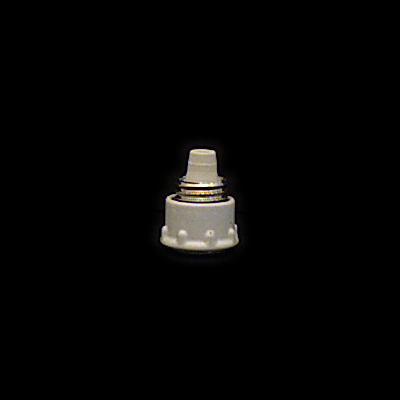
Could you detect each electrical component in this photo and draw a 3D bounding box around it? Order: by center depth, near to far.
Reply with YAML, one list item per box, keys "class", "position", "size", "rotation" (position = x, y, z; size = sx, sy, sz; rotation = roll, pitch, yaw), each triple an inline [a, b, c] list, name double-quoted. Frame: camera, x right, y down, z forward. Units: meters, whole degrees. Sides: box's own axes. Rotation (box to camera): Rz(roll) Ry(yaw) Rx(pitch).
- class: "electrical component"
  position: [0.000, 0.000, 0.651]
  size: [0.048, 0.062, 0.048]
  rotation: [2, 12, 0]
